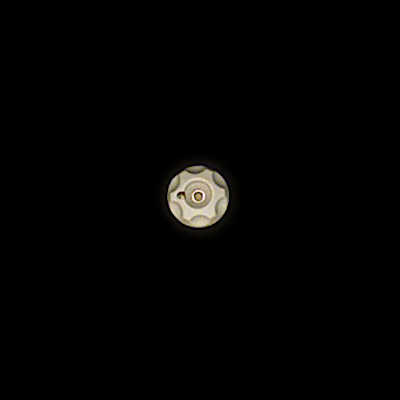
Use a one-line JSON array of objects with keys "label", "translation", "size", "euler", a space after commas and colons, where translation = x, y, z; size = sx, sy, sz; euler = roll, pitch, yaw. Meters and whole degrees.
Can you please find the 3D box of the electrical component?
[{"label": "electrical component", "translation": [0.000, 0.000, 0.635], "size": [0.035, 0.035, 0.061], "euler": [0, -6, 1]}]
